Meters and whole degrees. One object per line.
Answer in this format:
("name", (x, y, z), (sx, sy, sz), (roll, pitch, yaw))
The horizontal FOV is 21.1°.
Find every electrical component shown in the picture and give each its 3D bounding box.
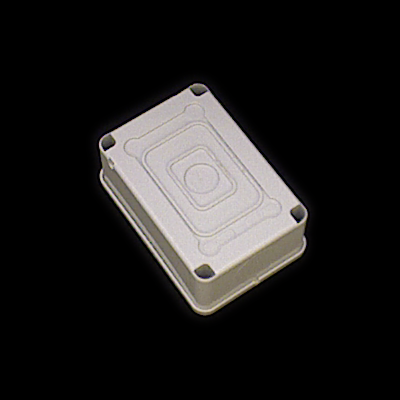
("electrical component", (0.000, 0.000, 0.628), (0.078, 0.113, 0.057), (-31, -22, -15))
